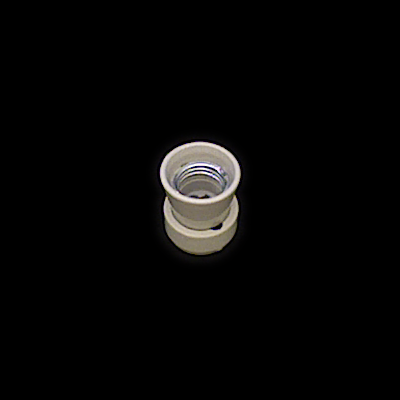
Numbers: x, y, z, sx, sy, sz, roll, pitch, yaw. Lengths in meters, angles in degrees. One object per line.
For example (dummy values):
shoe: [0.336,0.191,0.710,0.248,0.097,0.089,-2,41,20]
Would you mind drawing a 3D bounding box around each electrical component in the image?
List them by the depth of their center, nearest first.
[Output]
electrical component: [0.000,0.000,0.628,0.045,0.044,0.055,0,-38,1]
